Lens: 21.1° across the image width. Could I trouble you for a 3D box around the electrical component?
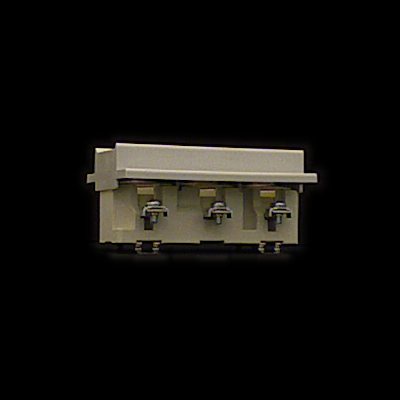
[{"bbox_3d":[0.000,0.000,0.663,0.122,0.063,0.078,1,-1,-22],"label":"electrical component"}]
